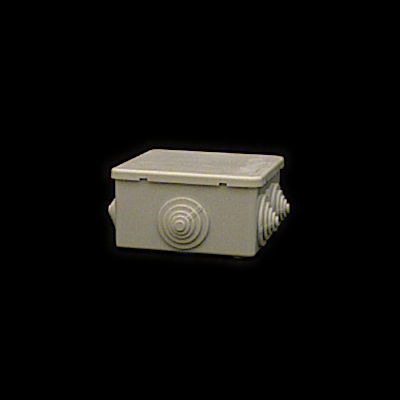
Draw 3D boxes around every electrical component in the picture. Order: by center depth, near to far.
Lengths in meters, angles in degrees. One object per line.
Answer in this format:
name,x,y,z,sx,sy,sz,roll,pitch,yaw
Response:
electrical component,0.000,0.000,0.651,0.099,0.049,0.099,4,12,13
